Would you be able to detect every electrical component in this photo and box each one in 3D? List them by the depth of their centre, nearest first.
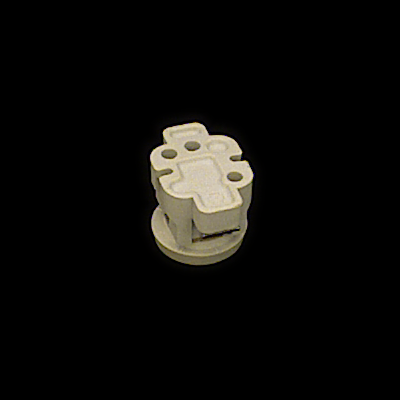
[{"bbox_3d":[0.000,0.000,0.638,0.058,0.057,0.077,-12,46,-15],"label":"electrical component"}]
